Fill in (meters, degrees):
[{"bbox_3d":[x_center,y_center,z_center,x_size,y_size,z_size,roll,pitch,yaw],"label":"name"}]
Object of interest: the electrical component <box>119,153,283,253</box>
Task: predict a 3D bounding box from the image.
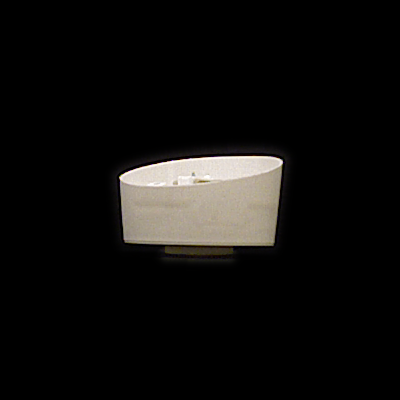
[{"bbox_3d":[0.000,0.000,0.651,0.099,0.064,0.099,1,-1,0],"label":"electrical component"}]
